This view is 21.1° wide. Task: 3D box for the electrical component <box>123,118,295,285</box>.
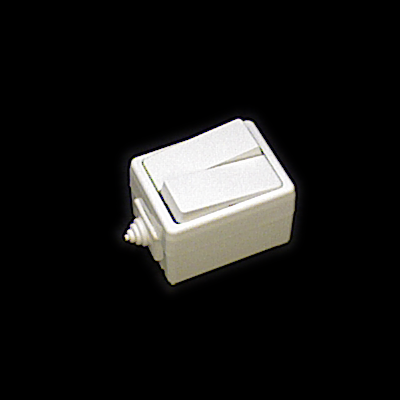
[{"bbox_3d":[0.000,0.000,0.627,0.096,0.061,0.061,-19,-35,-15],"label":"electrical component"}]
